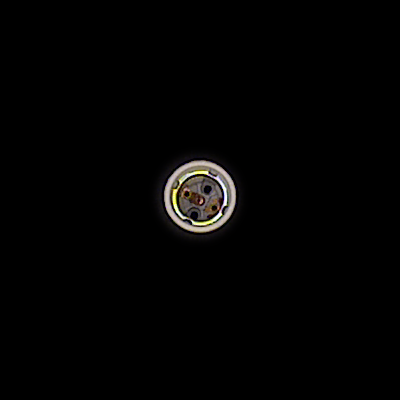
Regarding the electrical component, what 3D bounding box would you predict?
[{"bbox_3d":[0.000,0.000,0.627,0.040,0.040,0.046,0,-6,0],"label":"electrical component"}]
